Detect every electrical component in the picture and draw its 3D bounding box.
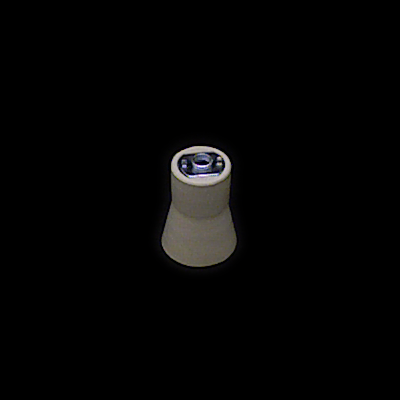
[{"bbox_3d":[0.000,0.000,0.628,0.044,0.066,0.044,1,43,-1],"label":"electrical component"}]
